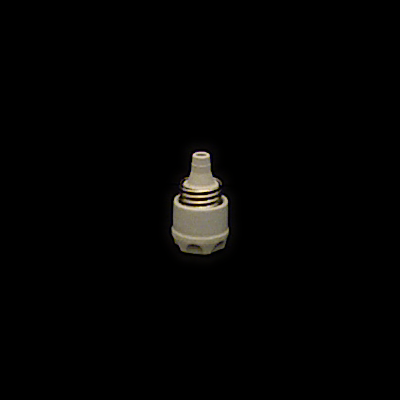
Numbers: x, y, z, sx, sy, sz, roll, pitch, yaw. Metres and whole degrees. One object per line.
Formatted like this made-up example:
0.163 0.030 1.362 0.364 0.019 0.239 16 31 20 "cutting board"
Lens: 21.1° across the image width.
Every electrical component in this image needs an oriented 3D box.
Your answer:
0.000 0.000 0.653 0.035 0.062 0.034 0 24 0 "electrical component"
